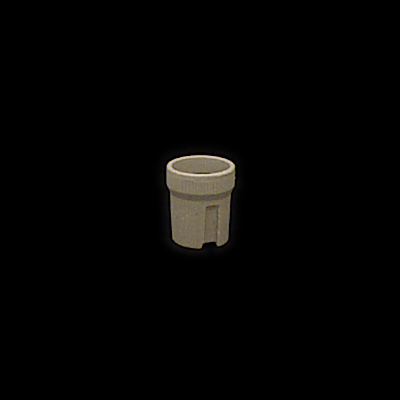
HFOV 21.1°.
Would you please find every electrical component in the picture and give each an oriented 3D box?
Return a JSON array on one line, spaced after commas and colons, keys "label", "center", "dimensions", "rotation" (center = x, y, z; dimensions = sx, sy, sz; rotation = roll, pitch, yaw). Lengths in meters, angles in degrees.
[{"label": "electrical component", "center": [0.000, 0.000, 0.642], "dimensions": [0.040, 0.047, 0.039], "rotation": [1, 21, 0]}]
